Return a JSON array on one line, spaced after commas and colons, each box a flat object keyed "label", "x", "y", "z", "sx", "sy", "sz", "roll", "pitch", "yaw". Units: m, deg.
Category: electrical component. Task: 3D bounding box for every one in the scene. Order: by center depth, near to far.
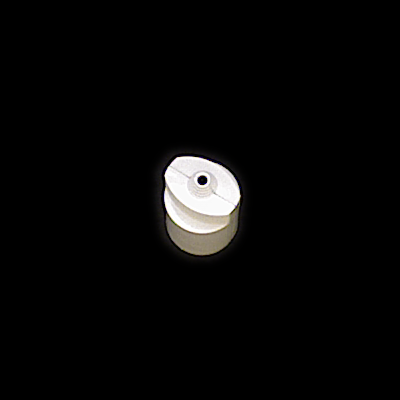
[{"label": "electrical component", "x": 0.000, "y": 0.000, "z": 0.616, "sx": 0.043, "sy": 0.043, "sz": 0.080, "roll": 0, "pitch": -17, "yaw": 0}]
